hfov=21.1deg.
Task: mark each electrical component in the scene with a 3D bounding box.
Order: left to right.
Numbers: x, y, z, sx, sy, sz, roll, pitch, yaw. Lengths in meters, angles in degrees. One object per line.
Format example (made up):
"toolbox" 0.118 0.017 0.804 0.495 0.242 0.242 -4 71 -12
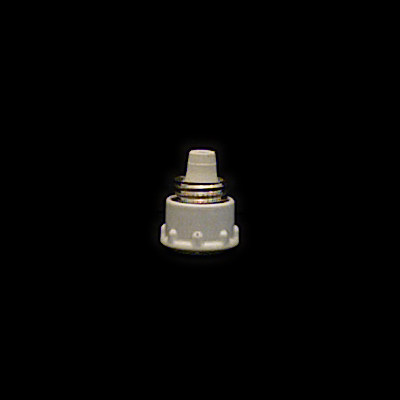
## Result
"electrical component" 0.000 0.000 0.652 0.048 0.062 0.048 2 11 0
